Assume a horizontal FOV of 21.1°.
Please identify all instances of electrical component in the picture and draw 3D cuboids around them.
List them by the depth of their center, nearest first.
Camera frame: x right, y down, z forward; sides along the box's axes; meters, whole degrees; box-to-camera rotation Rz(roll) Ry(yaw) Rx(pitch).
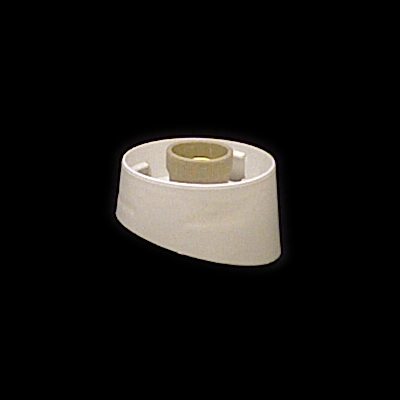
[{"bbox_3d":[0.000,0.000,0.637,0.099,0.065,0.097,1,21,0],"label":"electrical component"}]
